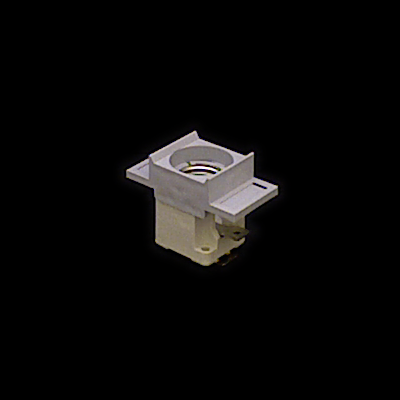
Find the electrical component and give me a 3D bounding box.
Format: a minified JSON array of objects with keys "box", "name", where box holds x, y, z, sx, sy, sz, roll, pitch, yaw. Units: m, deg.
[{"box":[0.000,0.000,0.632,0.080,0.064,0.042,23,37,33],"name":"electrical component"}]
